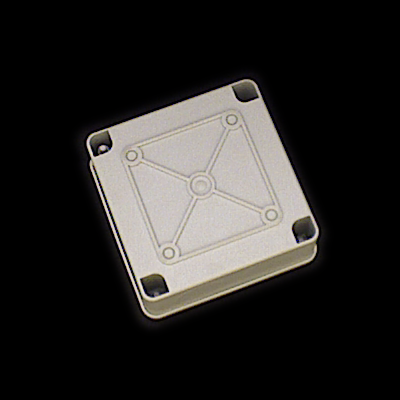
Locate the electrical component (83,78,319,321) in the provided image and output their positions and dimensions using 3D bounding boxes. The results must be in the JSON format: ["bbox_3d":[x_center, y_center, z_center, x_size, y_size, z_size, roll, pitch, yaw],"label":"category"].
[{"bbox_3d":[0.000,0.000,0.627,0.109,0.109,0.056,-20,-17,-6],"label":"electrical component"}]
